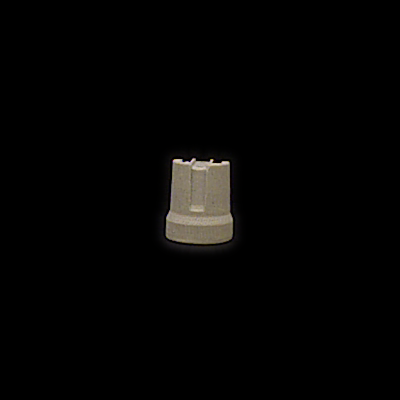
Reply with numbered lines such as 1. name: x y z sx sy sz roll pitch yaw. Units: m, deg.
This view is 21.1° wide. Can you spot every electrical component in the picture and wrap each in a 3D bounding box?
1. electrical component: 0.000 0.000 0.647 0.040 0.046 0.040 2 12 0
